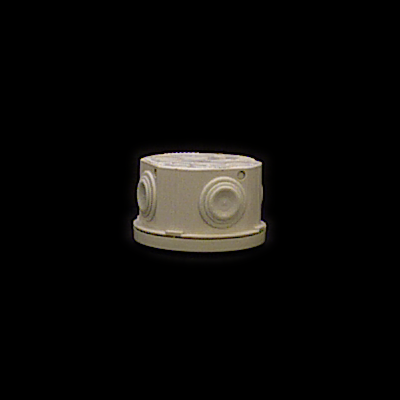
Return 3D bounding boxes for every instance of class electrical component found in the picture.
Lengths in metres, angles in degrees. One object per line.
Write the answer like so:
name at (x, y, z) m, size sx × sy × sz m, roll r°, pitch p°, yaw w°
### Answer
electrical component at (0.000, 0.000, 0.647) m, size 0.080 × 0.051 × 0.079 m, roll 1°, pitch 10°, yaw 0°
